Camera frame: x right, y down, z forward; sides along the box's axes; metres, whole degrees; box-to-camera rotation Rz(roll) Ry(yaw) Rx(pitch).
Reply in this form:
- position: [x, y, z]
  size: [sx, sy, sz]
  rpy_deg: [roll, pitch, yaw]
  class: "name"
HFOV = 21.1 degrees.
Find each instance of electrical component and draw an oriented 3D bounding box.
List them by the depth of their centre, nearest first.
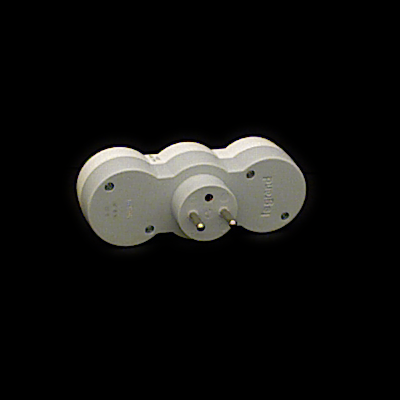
- position: [0.000, 0.000, 0.644]
  size: [0.139, 0.053, 0.072]
  rpy_deg: [-5, 24, -16]
  class: "electrical component"
